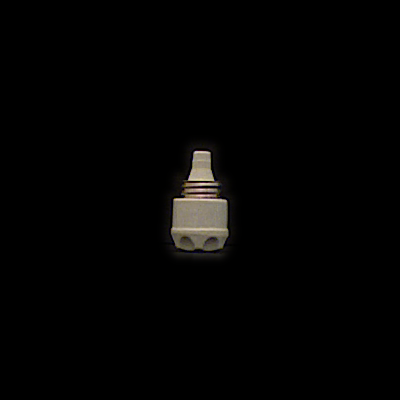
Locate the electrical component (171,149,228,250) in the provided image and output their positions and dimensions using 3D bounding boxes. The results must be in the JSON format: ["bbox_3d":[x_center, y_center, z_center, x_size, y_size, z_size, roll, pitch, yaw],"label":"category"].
[{"bbox_3d":[0.000,0.000,0.661,0.035,0.061,0.035,2,1,0],"label":"electrical component"}]
